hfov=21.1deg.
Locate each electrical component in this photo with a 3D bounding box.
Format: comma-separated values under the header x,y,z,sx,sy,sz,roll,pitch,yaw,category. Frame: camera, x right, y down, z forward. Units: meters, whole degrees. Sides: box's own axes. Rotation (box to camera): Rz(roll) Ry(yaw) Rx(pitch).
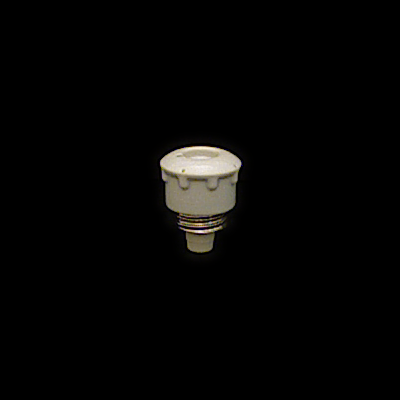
x,y,z,sx,sy,sz,roll,pitch,yaw,category
0.000,0.000,0.643,0.048,0.062,0.047,1,21,0,electrical component
